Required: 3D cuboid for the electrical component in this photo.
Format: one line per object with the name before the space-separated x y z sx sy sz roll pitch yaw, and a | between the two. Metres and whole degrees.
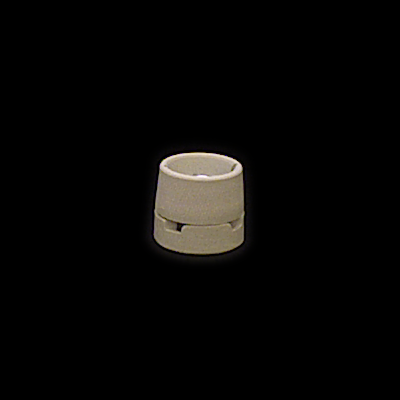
electrical component | 0.000 0.000 0.642 0.055 0.047 0.055 2 21 -1
